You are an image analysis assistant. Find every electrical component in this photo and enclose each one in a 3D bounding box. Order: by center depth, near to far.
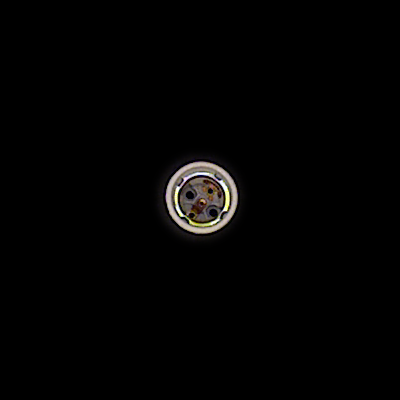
[{"bbox_3d":[0.000,0.000,0.627,0.040,0.040,0.046,0,-6,0],"label":"electrical component"}]
